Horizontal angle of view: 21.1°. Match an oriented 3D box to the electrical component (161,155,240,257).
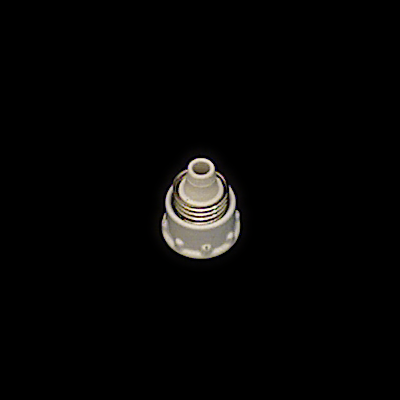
[{"bbox_3d":[0.000,0.000,0.636,0.048,0.048,0.062,0,-38,-1],"label":"electrical component"}]
